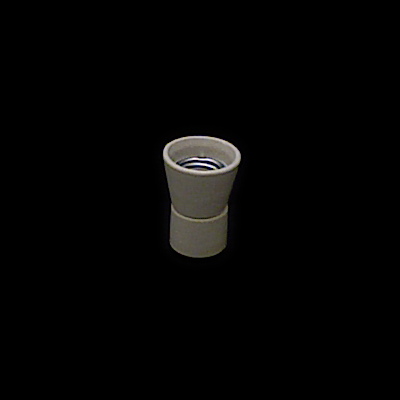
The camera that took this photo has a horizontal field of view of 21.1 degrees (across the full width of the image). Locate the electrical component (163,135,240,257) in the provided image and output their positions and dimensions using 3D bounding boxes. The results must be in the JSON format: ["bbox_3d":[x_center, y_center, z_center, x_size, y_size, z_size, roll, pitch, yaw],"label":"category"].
[{"bbox_3d":[0.000,0.000,0.634,0.044,0.066,0.044,2,31,-1],"label":"electrical component"}]
